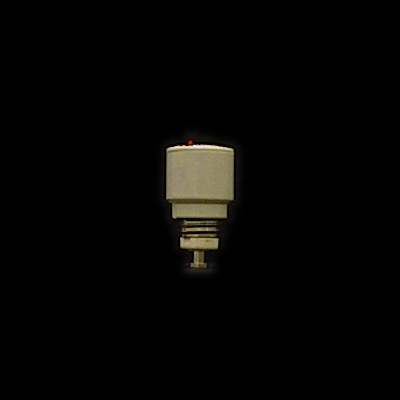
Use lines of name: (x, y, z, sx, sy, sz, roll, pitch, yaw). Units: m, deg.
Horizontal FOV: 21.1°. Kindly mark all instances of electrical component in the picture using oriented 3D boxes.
electrical component: (0.000, 0.000, 0.652, 0.040, 0.078, 0.040, 1, 1, 0)
